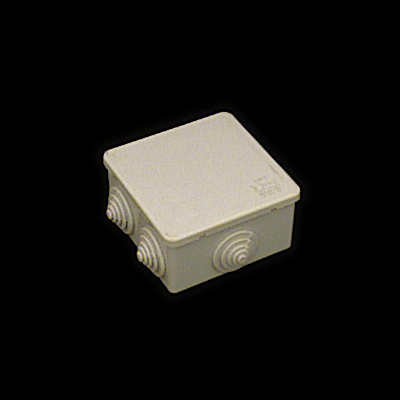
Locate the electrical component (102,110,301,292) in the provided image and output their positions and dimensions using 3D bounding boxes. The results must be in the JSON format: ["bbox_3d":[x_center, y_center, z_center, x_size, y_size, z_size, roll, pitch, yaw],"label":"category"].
[{"bbox_3d":[0.000,0.000,0.642,0.100,0.049,0.098,-20,47,-22],"label":"electrical component"}]
